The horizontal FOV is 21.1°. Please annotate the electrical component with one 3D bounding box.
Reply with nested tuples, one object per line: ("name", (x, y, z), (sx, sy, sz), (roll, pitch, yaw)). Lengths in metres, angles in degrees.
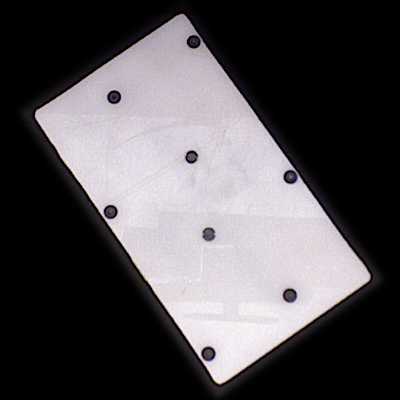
("electrical component", (0.000, 0.000, 0.626), (0.106, 0.186, 0.060), (-35, -6, -3))
